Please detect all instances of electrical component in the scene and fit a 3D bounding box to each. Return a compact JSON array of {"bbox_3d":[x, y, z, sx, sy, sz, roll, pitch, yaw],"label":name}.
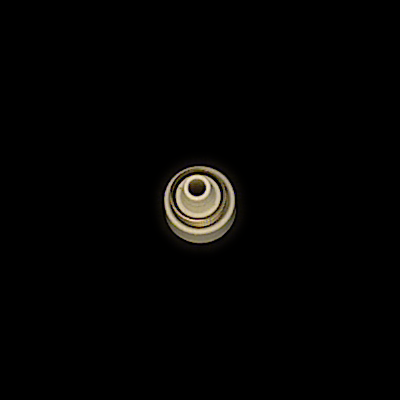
[{"bbox_3d":[0.000,0.000,0.634,0.043,0.043,0.061,0,-15,2],"label":"electrical component"}]
